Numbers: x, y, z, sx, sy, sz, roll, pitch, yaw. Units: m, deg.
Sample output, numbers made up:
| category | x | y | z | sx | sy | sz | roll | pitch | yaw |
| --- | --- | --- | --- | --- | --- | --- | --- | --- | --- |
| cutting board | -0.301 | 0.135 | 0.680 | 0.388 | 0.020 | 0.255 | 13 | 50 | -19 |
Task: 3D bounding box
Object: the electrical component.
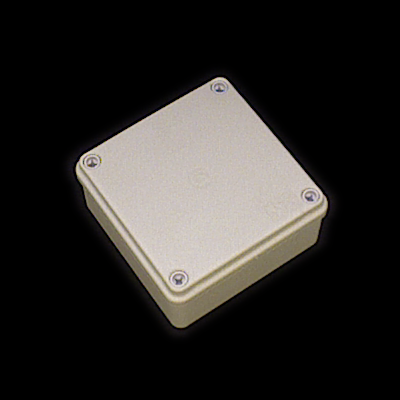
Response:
| category | x | y | z | sx | sy | sz | roll | pitch | yaw |
| --- | --- | --- | --- | --- | --- | --- | --- | --- | --- |
| electrical component | 0.000 | 0.000 | 0.629 | 0.109 | 0.108 | 0.056 | -31 | -24 | -15 |
